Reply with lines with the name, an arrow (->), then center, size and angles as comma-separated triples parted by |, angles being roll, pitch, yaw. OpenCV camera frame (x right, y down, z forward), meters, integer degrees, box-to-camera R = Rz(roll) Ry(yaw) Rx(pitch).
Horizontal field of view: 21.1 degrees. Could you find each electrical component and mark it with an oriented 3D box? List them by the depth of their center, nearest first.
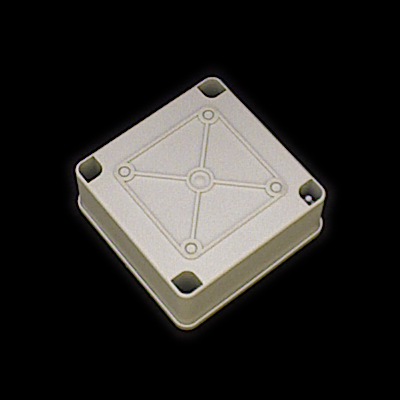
electrical component -> 0.000, 0.000, 0.628 | 0.109, 0.108, 0.056 | -35, -21, -17
